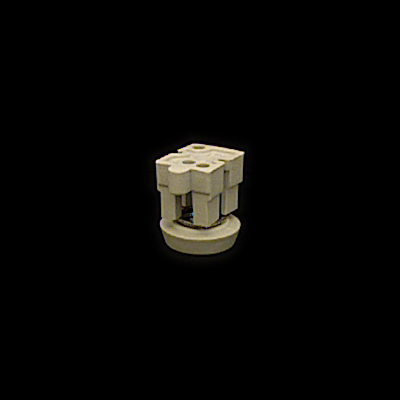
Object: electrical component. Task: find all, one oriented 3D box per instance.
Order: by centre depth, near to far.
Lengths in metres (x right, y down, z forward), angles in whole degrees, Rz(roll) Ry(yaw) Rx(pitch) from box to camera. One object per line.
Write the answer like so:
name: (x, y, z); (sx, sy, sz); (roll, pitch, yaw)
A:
electrical component: (0.000, 0.000, 0.646); (0.048, 0.056, 0.066); (12, 23, 27)
